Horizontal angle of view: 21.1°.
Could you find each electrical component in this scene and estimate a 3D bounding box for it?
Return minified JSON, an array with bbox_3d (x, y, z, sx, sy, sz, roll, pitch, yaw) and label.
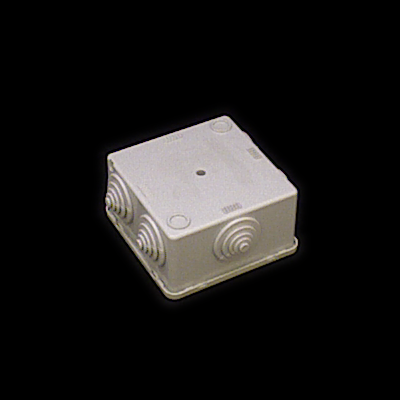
[{"bbox_3d":[0.000,0.000,0.635,0.100,0.049,0.098,-20,46,-22],"label":"electrical component"}]
